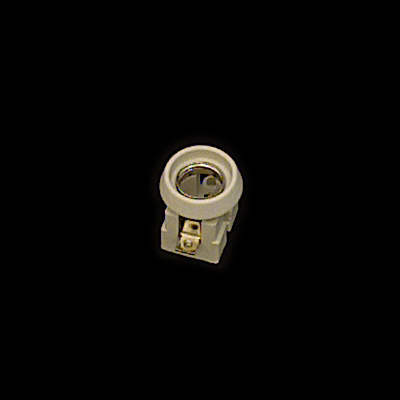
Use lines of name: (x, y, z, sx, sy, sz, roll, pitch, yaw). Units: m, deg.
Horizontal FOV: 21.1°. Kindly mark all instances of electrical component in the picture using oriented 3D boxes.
electrical component: (0.000, 0.000, 0.637, 0.048, 0.066, 0.056, 12, -36, 11)
